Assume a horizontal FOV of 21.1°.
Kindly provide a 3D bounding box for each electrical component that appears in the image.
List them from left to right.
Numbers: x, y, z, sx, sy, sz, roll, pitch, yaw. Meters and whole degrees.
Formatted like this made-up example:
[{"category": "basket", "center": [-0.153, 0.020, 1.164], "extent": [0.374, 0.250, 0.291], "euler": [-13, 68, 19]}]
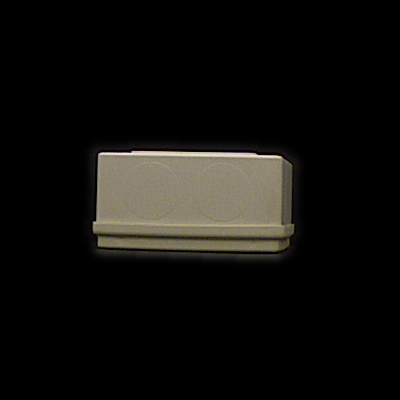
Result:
[{"category": "electrical component", "center": [0.000, 0.000, 0.649], "extent": [0.109, 0.056, 0.108], "euler": [1, 1, 8]}]
